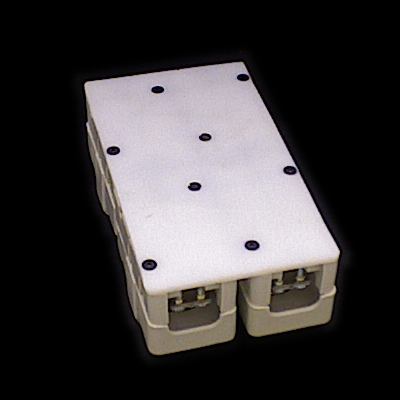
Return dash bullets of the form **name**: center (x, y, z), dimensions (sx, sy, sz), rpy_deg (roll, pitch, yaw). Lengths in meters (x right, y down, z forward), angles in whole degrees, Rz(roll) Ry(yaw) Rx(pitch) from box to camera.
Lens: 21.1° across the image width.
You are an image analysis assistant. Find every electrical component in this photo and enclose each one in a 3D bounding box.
- **electrical component**: center (0.000, 0.000, 0.630), dimensions (0.105, 0.061, 0.184), rpy_deg (-10, 43, -11)
